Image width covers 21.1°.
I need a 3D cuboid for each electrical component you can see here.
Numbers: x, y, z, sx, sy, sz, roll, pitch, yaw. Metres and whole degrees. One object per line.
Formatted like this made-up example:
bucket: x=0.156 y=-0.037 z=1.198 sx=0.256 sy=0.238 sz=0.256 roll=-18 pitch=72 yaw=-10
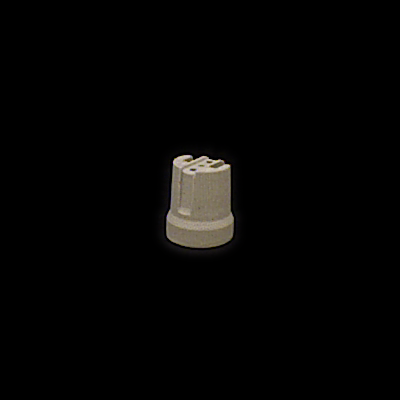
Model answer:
electrical component: x=0.000 y=0.000 z=0.642 sx=0.040 sy=0.046 sz=0.040 roll=1 pitch=22 yaw=0
